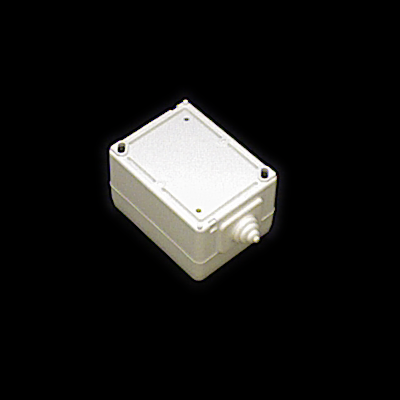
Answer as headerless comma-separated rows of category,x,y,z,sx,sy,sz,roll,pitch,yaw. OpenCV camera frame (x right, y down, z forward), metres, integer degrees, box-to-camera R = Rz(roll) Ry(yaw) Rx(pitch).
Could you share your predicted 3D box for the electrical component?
electrical component,0.000,0.000,0.625,0.061,0.061,0.096,-35,60,-25
